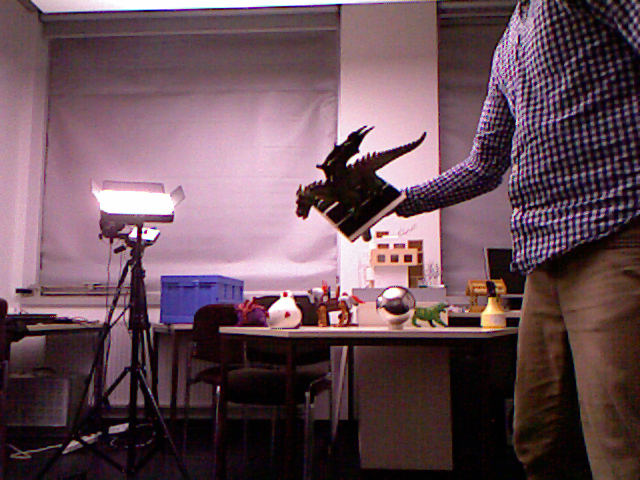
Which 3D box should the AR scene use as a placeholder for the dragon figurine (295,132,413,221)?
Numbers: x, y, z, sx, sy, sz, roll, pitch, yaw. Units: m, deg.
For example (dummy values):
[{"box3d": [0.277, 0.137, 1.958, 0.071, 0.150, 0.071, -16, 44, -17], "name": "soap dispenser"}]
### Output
[{"box3d": [0.089, -0.187, 1.356, 0.124, 0.414, 0.238, 42, -11, 26], "name": "dragon figurine"}]
